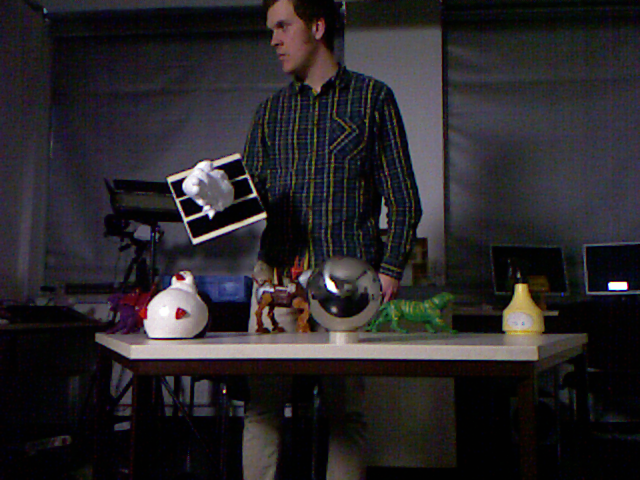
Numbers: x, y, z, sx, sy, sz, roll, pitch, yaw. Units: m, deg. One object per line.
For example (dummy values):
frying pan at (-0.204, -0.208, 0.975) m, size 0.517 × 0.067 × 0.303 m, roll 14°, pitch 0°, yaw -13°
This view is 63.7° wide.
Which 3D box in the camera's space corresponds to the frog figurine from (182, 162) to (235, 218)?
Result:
frog figurine at (-0.281, -0.138, 1.306) m, size 0.123 × 0.139 × 0.157 m, roll -1°, pitch -18°, yaw -3°
